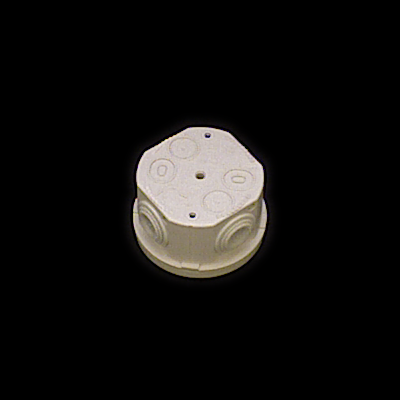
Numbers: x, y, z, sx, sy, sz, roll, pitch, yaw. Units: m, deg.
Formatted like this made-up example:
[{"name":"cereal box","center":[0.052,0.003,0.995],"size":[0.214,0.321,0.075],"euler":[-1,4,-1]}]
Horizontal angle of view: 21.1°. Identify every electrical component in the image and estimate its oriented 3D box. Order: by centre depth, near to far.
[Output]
[{"name":"electrical component","center":[0.000,0.000,0.631],"size":[0.080,0.080,0.051],"euler":[0,-37,-1]}]
